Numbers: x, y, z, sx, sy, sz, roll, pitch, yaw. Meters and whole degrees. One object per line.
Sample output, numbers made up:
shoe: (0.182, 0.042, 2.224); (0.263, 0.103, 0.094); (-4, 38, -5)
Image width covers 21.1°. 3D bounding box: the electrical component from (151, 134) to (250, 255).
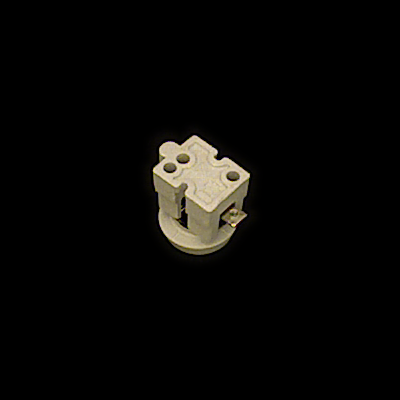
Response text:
electrical component: (0.000, 0.000, 0.638); (0.066, 0.055, 0.049); (36, 60, 23)
